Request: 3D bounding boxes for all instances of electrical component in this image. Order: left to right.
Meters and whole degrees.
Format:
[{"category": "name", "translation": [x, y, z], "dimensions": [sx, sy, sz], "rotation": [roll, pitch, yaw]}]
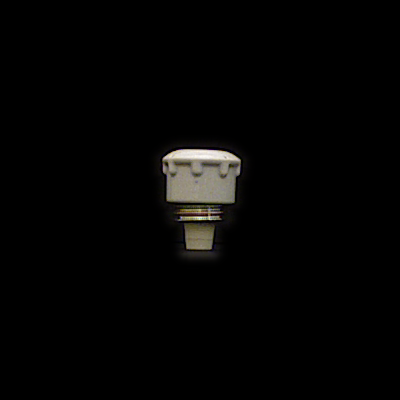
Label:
[{"category": "electrical component", "translation": [0.000, 0.000, 0.659], "dimensions": [0.048, 0.062, 0.048], "rotation": [1, 2, 0]}]
